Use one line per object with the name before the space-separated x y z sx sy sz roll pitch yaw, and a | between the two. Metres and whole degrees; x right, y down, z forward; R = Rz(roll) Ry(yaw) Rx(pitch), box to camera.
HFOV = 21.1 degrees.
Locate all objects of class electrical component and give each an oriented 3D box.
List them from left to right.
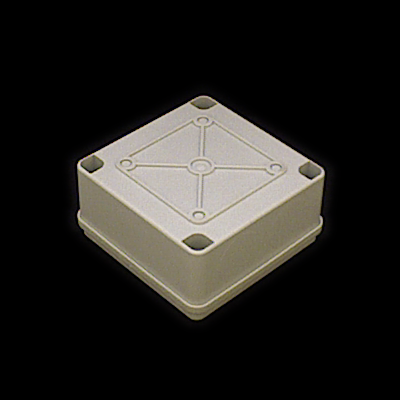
electrical component | 0.000 0.000 0.633 0.108 0.057 0.108 -32 52 -32
